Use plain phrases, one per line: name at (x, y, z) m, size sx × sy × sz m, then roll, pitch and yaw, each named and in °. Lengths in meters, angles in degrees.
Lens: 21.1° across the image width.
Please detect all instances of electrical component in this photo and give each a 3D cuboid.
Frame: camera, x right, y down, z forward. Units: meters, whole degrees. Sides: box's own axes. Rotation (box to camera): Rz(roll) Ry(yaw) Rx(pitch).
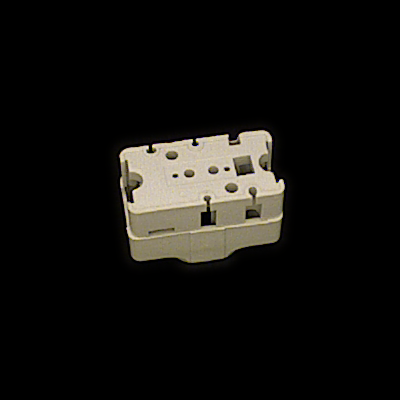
electrical component at (0.000, 0.000, 0.638) m, size 0.090 × 0.050 × 0.056 m, roll -7°, pitch -37°, yaw -7°
